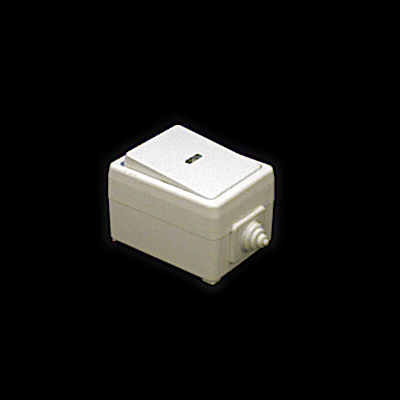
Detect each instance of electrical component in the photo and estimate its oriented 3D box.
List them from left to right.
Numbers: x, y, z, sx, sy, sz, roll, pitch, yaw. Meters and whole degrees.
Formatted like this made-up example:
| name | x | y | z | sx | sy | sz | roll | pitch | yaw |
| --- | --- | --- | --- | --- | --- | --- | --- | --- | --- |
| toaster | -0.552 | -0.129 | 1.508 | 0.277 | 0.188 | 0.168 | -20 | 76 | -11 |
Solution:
| name | x | y | z | sx | sy | sz | roll | pitch | yaw |
| --- | --- | --- | --- | --- | --- | --- | --- | --- | --- |
| electrical component | 0.000 | 0.000 | 0.633 | 0.096 | 0.061 | 0.061 | 22 | 37 | 31 |
